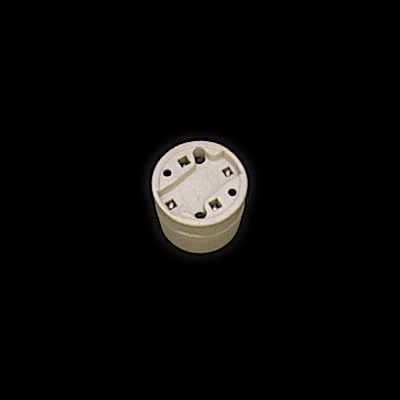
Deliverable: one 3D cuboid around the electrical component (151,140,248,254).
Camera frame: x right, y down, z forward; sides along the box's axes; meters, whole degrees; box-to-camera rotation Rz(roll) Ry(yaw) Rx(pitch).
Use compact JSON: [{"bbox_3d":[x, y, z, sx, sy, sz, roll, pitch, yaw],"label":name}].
[{"bbox_3d":[0.000,0.000,0.633,0.055,0.056,0.047,0,-28,0],"label":"electrical component"}]
